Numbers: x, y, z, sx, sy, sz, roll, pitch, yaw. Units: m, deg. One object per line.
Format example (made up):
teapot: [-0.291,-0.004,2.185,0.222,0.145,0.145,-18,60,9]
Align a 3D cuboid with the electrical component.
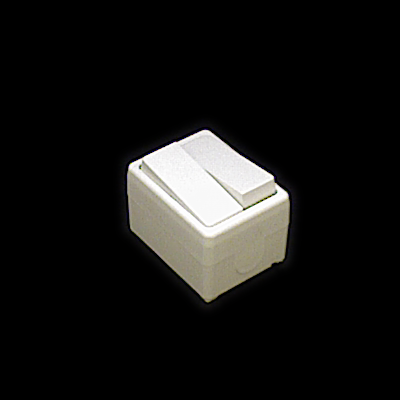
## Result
electrical component: [0.000,0.000,0.632,0.062,0.061,0.095,-27,49,-27]
